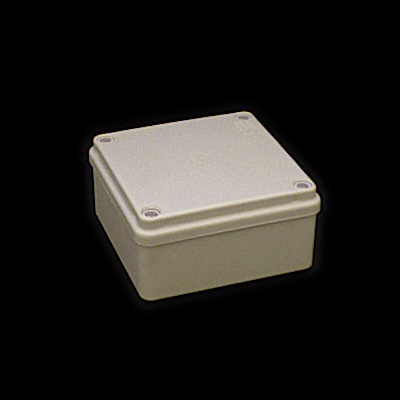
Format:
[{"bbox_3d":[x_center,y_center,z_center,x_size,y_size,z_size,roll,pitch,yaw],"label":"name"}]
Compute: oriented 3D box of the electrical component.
[{"bbox_3d":[0.000,0.000,0.634,0.109,0.057,0.107,-11,33,-17],"label":"electrical component"}]
